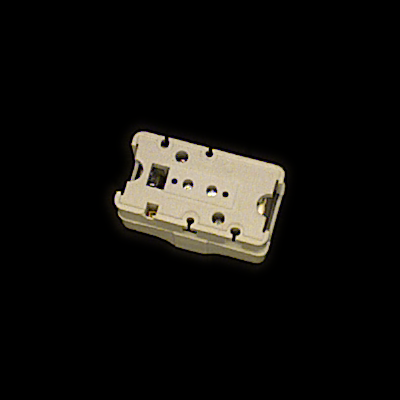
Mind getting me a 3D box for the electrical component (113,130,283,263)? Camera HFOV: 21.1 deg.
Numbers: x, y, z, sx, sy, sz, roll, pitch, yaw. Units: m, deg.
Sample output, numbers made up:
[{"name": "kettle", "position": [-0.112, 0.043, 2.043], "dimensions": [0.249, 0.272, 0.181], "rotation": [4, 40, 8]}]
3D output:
[{"name": "electrical component", "position": [0.000, 0.000, 0.636], "dimensions": [0.089, 0.050, 0.055], "rotation": [15, -15, 5]}]
